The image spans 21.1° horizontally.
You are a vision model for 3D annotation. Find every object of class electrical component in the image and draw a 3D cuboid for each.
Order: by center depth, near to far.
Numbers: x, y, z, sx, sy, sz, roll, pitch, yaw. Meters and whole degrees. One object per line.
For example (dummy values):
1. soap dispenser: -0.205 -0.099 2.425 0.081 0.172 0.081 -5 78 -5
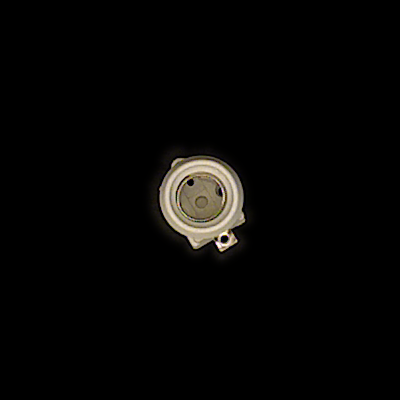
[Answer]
1. electrical component: 0.000 0.000 0.639 0.048 0.066 0.055 -32 -5 0
